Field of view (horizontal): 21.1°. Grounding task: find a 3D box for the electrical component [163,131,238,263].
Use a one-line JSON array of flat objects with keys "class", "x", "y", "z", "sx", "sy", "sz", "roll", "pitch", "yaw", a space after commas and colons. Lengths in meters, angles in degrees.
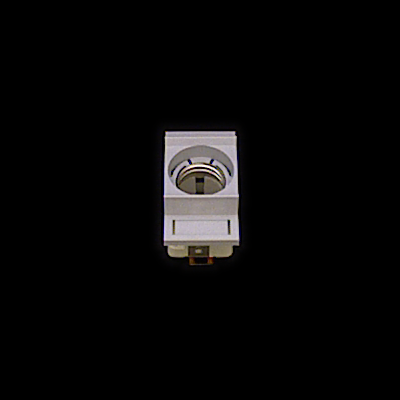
[{"class": "electrical component", "x": 0.000, "y": 0.000, "z": 0.624, "sx": 0.042, "sy": 0.080, "sz": 0.064, "roll": 1, "pitch": -38, "yaw": -1}]
